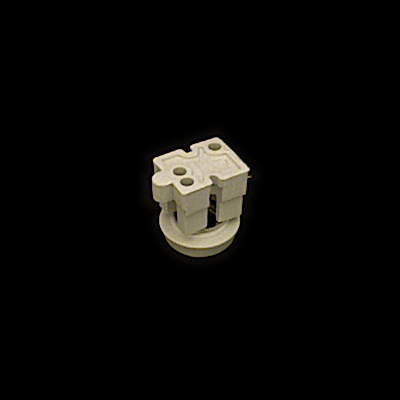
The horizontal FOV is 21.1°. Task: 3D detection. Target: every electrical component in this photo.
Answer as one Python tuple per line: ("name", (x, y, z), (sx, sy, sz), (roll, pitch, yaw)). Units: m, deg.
("electrical component", (0.000, 0.000, 0.639), (0.067, 0.056, 0.048), (-21, 46, -23))
